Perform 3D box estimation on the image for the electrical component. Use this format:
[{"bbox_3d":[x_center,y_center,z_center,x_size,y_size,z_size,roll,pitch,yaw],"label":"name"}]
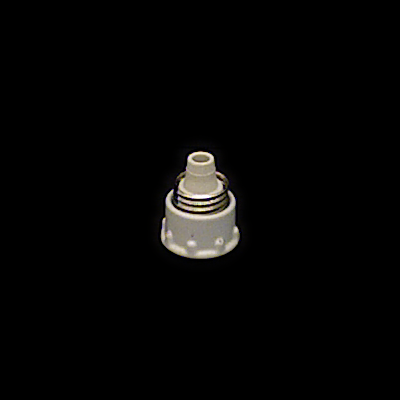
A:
[{"bbox_3d":[0.000,0.000,0.640,0.048,0.063,0.047,0,33,0],"label":"electrical component"}]
